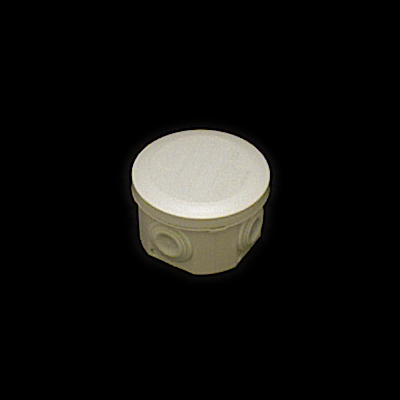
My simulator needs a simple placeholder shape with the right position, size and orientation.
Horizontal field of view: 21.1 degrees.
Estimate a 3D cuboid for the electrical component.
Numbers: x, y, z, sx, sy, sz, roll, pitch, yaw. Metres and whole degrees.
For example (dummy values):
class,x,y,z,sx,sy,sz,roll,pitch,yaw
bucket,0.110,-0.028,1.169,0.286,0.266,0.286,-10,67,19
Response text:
class,x,y,z,sx,sy,sz,roll,pitch,yaw
electrical component,0.000,0.000,0.631,0.080,0.051,0.080,0,42,0
